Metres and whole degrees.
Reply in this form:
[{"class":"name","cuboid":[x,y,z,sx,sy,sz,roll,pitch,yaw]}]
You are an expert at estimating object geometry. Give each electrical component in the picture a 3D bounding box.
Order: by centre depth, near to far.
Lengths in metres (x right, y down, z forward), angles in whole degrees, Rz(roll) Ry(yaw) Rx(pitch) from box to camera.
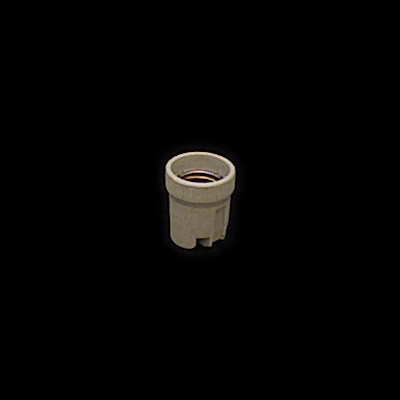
[{"class":"electrical component","cuboid":[0.000,0.000,0.634,0.040,0.047,0.039,1,32,0]}]
